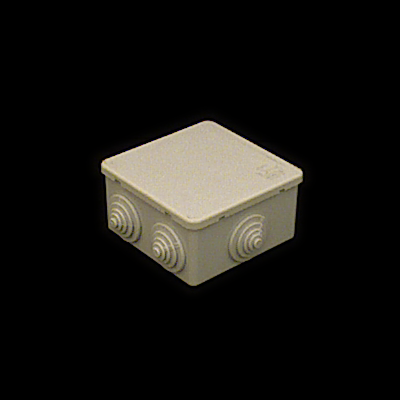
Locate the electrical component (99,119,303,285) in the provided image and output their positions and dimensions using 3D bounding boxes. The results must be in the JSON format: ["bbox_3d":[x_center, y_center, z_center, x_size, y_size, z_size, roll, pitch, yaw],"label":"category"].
[{"bbox_3d":[0.000,0.000,0.645,0.100,0.049,0.098,-24,40,-34],"label":"electrical component"}]
